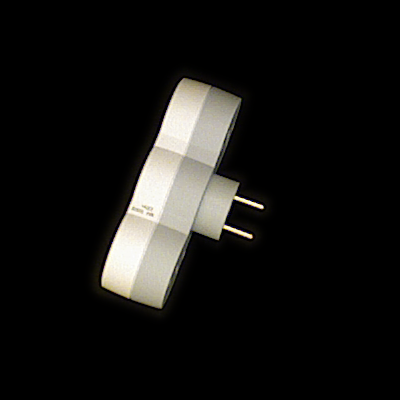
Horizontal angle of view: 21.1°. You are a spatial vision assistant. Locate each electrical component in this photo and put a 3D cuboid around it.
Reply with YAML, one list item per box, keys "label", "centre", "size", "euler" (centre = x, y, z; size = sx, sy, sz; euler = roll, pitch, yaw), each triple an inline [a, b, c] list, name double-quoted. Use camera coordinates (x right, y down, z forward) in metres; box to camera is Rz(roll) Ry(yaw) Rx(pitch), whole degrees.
- label: "electrical component"
  centre: [0.000, 0.000, 0.637]
  size: [0.073, 0.139, 0.052]
  euler: [20, -15, 4]
